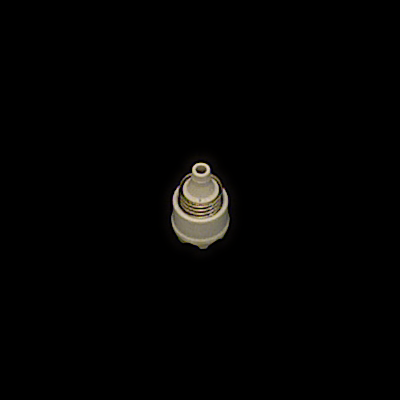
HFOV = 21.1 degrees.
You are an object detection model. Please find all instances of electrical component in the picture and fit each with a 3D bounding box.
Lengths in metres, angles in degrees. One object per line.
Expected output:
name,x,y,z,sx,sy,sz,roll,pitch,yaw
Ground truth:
electrical component,0.000,0.000,0.641,0.035,0.035,0.062,0,-36,-1
